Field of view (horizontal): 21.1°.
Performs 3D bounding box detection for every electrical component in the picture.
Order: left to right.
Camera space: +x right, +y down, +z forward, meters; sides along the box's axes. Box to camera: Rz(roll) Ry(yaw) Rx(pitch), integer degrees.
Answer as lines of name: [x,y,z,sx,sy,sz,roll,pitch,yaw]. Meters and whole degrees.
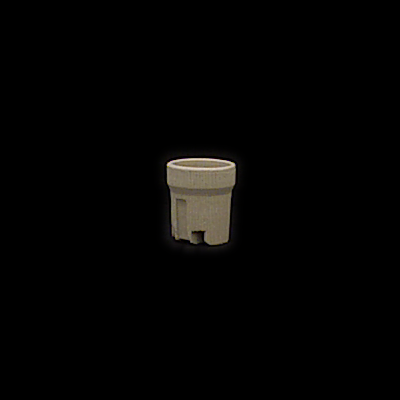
electrical component: [0.000,0.000,0.642,0.040,0.046,0.040,1,11,0]
